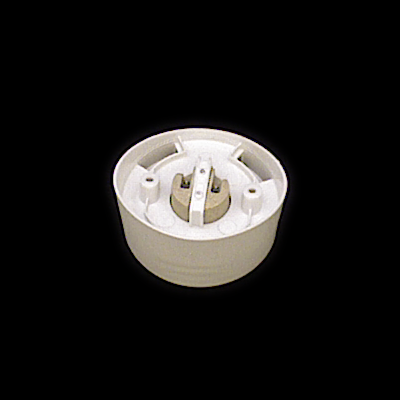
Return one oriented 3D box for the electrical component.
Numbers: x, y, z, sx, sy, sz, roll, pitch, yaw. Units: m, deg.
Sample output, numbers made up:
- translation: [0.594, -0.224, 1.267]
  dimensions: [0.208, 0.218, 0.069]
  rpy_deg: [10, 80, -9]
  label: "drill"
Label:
- translation: [0.000, 0.000, 0.625]
  dimensions: [0.099, 0.098, 0.064]
  rpy_deg: [0, -36, -1]
  label: "electrical component"
